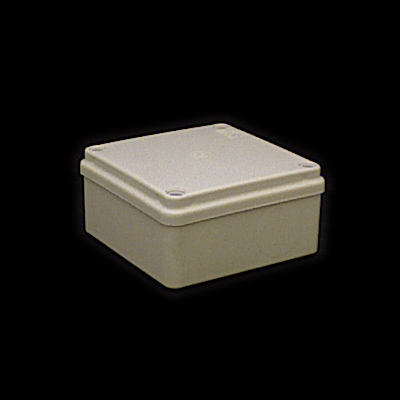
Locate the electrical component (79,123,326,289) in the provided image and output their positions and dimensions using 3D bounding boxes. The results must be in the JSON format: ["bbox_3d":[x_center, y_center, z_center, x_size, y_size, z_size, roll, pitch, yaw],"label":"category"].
[{"bbox_3d":[0.000,0.000,0.638,0.109,0.057,0.107,-13,25,-31],"label":"electrical component"}]
